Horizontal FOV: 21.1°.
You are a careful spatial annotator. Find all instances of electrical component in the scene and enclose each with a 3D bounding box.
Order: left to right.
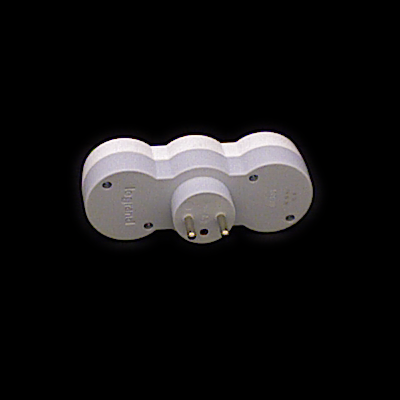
[{"bbox_3d":[0.000,0.000,0.638,0.138,0.053,0.073,-3,34,-8],"label":"electrical component"}]
